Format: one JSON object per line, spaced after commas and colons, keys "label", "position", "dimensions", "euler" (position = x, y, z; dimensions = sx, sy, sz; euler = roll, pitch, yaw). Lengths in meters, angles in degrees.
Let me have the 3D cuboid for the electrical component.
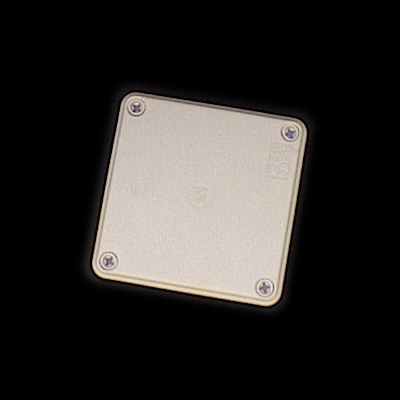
{"label": "electrical component", "position": [0.000, 0.000, 0.631], "dimensions": [0.109, 0.109, 0.056], "euler": [10, -6, 2]}
